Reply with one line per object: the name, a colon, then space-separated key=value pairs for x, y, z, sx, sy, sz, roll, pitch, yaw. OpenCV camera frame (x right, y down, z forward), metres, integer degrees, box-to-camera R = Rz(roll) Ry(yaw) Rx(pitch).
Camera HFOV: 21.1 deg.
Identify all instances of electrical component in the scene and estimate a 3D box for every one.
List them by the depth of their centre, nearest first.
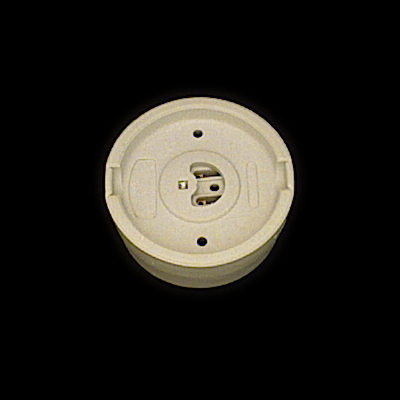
electrical component: x=0.000 y=0.000 z=0.632 sx=0.108 sy=0.108 sz=0.060 roll=0 pitch=-27 yaw=-1
